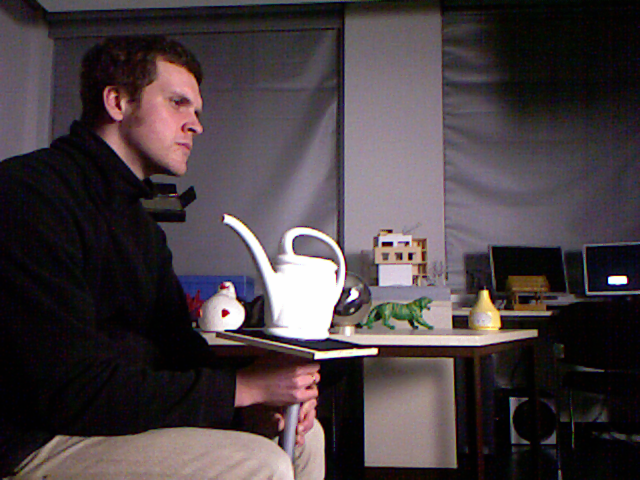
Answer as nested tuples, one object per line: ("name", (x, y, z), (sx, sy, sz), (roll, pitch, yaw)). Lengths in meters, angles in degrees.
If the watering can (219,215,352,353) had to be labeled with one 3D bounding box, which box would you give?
("watering can", (-0.057, 0.080, 0.869), (0.104, 0.225, 0.346), (6, -6, 38))
